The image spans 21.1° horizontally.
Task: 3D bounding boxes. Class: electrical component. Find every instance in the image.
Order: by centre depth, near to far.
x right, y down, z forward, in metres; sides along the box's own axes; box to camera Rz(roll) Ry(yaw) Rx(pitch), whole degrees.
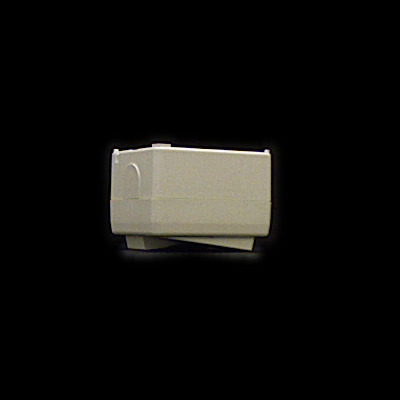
[{"bbox_3d":[0.000,0.000,0.656,0.096,0.061,0.062,1,0,-30],"label":"electrical component"}]
